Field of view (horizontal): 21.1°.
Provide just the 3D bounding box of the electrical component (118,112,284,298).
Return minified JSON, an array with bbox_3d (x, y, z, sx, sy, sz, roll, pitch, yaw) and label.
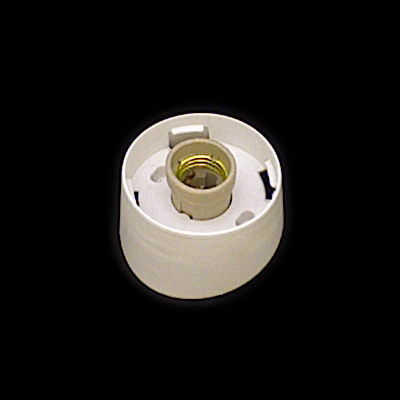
[{"bbox_3d":[0.000,0.000,0.627,0.099,0.098,0.064,0,-37,0],"label":"electrical component"}]
